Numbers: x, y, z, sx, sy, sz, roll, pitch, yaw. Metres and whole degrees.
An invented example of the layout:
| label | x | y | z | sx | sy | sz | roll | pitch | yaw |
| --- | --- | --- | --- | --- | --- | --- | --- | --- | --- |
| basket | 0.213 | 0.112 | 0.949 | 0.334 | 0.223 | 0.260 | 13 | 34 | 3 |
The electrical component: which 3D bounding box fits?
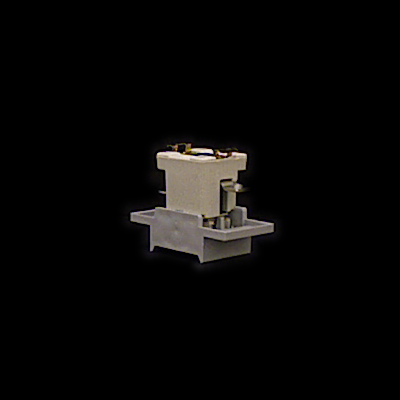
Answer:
| label | x | y | z | sx | sy | sz | roll | pitch | yaw |
| --- | --- | --- | --- | --- | --- | --- | --- | --- | --- |
| electrical component | 0.000 | 0.000 | 0.644 | 0.080 | 0.064 | 0.042 | 11 | 15 | 43 |
